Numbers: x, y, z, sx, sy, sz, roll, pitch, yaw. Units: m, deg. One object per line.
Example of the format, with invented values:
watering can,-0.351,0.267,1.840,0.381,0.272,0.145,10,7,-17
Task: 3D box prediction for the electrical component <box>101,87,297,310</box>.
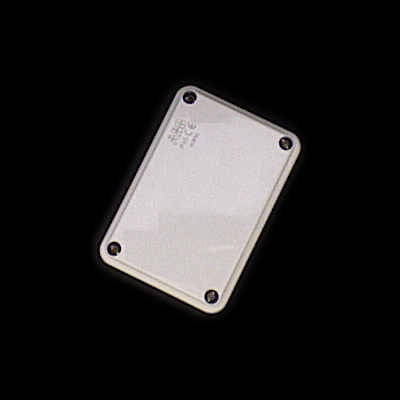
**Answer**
electrical component,0.000,0.000,0.628,0.078,0.113,0.057,26,-6,3
